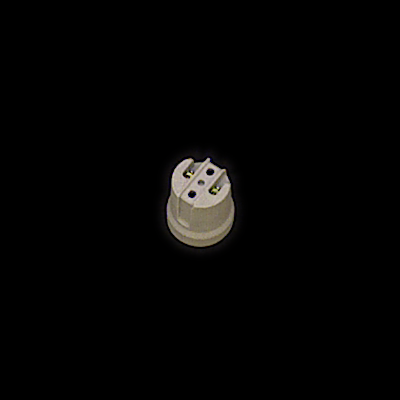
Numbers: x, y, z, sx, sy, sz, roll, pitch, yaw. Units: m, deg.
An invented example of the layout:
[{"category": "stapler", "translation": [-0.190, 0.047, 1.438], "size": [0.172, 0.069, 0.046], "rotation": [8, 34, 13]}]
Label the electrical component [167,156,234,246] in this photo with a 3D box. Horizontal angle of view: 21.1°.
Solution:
[{"category": "electrical component", "translation": [0.000, 0.000, 0.633], "size": [0.040, 0.040, 0.046], "rotation": [0, -26, 0]}]
